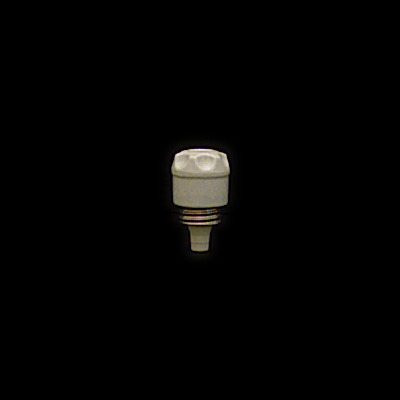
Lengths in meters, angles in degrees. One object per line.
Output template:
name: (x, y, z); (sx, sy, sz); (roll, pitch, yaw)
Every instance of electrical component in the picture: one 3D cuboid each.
electrical component: (0.000, 0.000, 0.651); (0.035, 0.062, 0.035); (1, 12, 0)
